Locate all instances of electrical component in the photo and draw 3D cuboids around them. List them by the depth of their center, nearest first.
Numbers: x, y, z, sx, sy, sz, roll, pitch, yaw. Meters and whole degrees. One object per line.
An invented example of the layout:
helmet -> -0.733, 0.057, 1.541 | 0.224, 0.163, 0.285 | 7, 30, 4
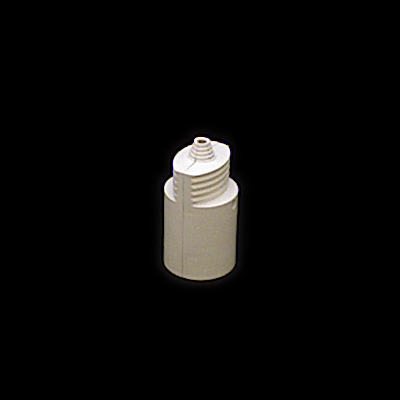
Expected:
electrical component -> 0.000, 0.000, 0.628 | 0.043, 0.082, 0.042 | 1, 31, 0
